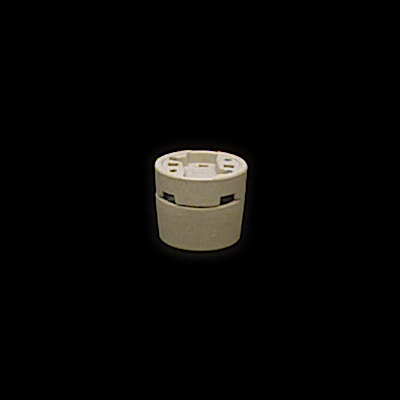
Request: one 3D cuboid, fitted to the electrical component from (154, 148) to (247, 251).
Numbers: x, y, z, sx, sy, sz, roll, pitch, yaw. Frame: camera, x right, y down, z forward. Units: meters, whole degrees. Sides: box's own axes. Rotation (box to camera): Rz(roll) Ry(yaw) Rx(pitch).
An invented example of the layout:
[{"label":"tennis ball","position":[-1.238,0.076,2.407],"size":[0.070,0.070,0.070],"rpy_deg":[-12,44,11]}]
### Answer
[{"label":"electrical component","position":[0.000,0.000,0.643],"size":[0.055,0.047,0.055],"rpy_deg":[1,22,0]}]
